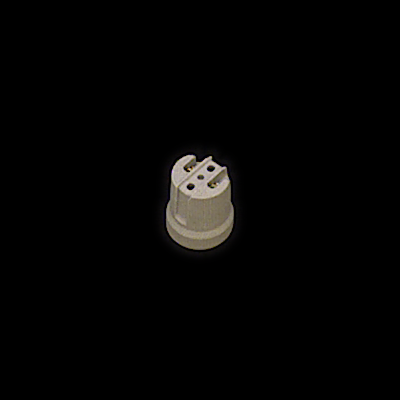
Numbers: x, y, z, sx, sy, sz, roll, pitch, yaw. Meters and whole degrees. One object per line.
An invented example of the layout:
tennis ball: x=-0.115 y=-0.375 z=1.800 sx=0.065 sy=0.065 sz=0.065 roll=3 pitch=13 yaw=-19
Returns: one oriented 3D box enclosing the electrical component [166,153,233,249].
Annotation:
electrical component: x=0.000 y=0.000 z=0.634 sx=0.040 sy=0.040 sz=0.046 roll=0 pitch=-37 yaw=-1
